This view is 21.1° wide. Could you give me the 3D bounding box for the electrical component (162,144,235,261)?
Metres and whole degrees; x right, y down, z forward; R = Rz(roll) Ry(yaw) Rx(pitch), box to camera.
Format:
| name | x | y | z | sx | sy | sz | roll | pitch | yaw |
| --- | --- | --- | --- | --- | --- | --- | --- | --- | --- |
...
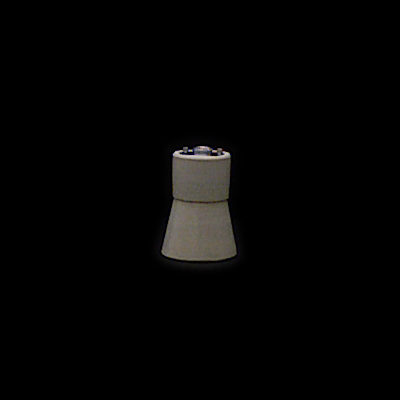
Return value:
| name | x | y | z | sx | sy | sz | roll | pitch | yaw |
| --- | --- | --- | --- | --- | --- | --- | --- | --- | --- |
| electrical component | 0.000 | 0.000 | 0.642 | 0.044 | 0.066 | 0.044 | 1 | 12 | 0 |
